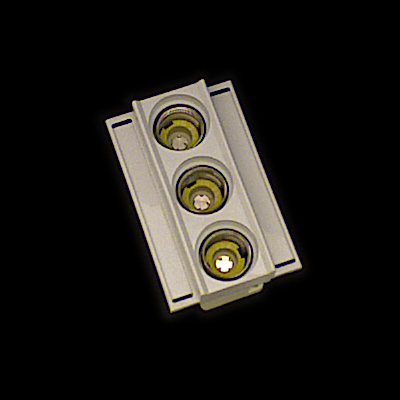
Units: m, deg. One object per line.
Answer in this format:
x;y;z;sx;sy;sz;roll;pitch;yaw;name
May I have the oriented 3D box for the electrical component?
0.000;0.000;0.637;0.079;0.121;0.063;-18;-16;-6;electrical component
